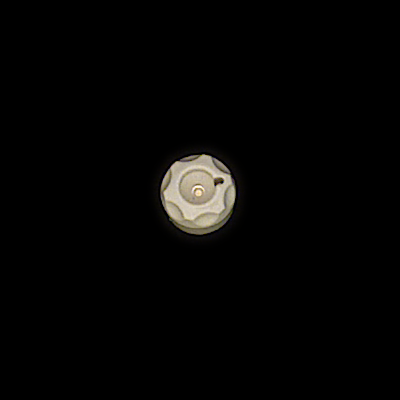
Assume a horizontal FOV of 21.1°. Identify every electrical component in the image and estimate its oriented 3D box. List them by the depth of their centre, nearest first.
[{"bbox_3d":[0.000,0.000,0.634,0.043,0.043,0.061,0,-15,1],"label":"electrical component"}]
